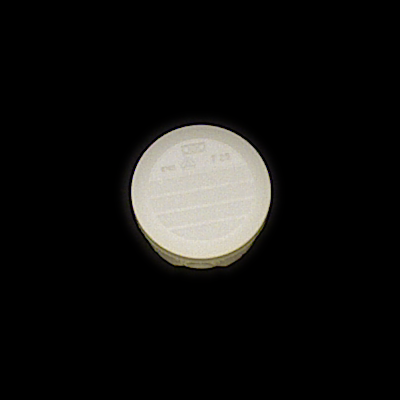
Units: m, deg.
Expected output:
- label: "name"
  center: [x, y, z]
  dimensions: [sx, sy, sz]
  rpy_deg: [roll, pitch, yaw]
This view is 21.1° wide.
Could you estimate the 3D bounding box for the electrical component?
- label: "electrical component"
  center: [0.000, 0.000, 0.630]
  dimensions: [0.080, 0.080, 0.050]
  rpy_deg: [0, -17, 0]
